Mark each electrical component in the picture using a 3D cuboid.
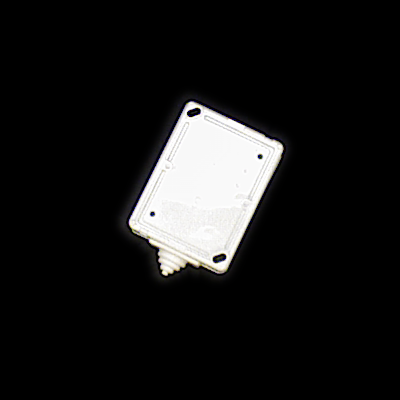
[{"bbox_3d":[0.000,0.000,0.625,0.062,0.096,0.060,26,-6,3],"label":"electrical component"}]
